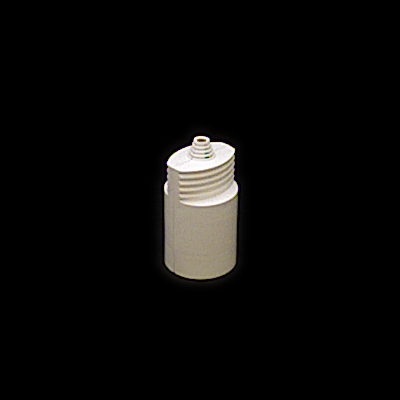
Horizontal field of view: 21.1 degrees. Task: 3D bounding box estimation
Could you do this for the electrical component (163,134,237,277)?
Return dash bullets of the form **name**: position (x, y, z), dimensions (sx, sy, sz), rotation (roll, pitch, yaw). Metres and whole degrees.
- **electrical component**: position (0.000, 0.000, 0.629), dimensions (0.043, 0.082, 0.042), rotation (1, 31, 0)
